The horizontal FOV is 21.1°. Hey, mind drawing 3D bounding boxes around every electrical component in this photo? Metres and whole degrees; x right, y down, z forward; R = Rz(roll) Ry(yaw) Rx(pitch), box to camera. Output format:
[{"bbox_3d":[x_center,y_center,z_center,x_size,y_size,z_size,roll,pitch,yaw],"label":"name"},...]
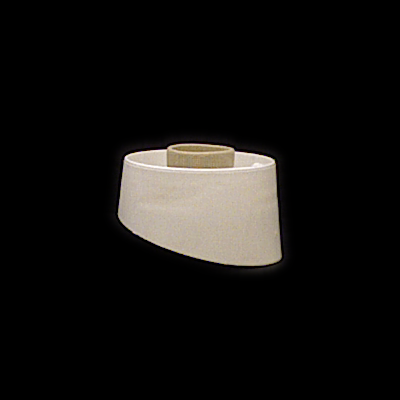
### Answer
[{"bbox_3d":[0.000,0.000,0.643,0.099,0.064,0.098,2,10,0],"label":"electrical component"}]
